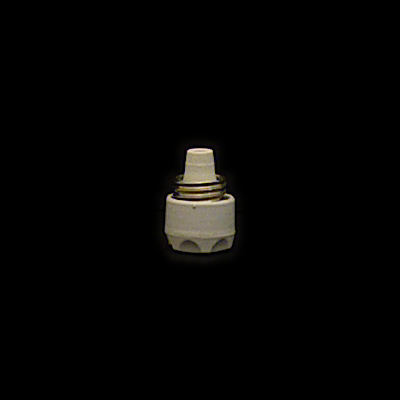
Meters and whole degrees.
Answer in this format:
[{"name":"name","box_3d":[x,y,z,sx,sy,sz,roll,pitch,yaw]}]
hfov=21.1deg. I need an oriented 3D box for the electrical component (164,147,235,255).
[{"name":"electrical component","box_3d":[0.000,0.000,0.651,0.043,0.062,0.043,0,12,1]}]
